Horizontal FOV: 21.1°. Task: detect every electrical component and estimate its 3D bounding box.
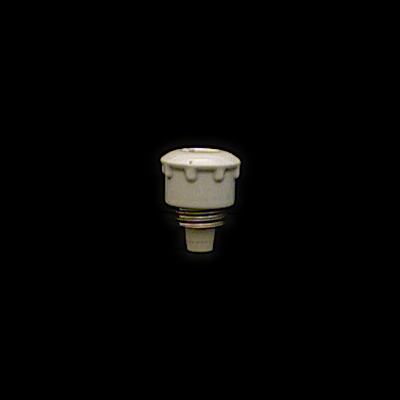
[{"bbox_3d":[0.000,0.000,0.650,0.048,0.062,0.048,1,11,0],"label":"electrical component"}]
